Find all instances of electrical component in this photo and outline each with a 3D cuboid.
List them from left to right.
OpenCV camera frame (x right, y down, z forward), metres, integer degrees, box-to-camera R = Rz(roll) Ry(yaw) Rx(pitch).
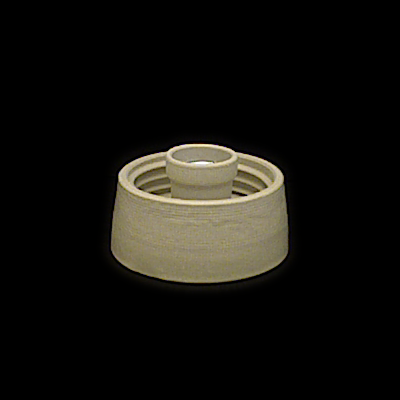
[{"bbox_3d":[0.000,0.000,0.644,0.108,0.061,0.106,1,21,0],"label":"electrical component"}]
